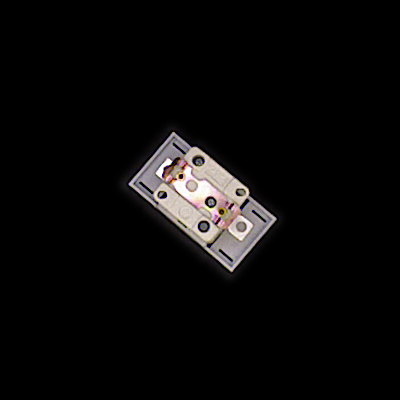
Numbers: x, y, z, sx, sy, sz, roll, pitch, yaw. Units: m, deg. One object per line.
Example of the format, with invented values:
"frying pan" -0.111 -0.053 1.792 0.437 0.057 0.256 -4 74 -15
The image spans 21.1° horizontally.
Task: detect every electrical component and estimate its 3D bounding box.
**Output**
"electrical component" 0.000 0.000 0.626 0.081 0.042 0.063 40 -4 4
